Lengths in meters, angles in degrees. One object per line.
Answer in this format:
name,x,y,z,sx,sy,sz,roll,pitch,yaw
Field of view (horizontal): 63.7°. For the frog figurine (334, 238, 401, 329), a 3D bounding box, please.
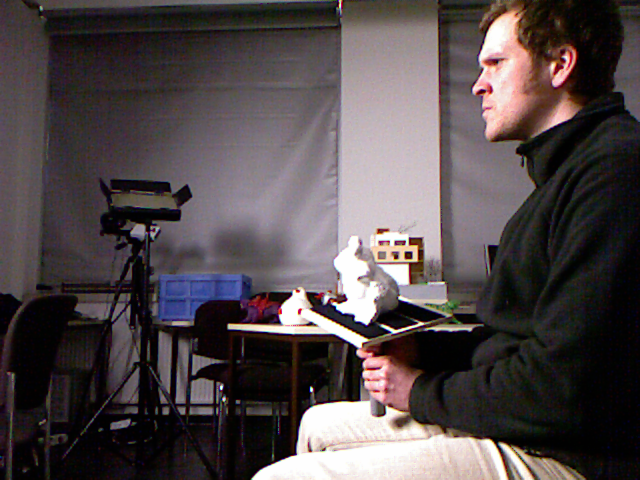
frog figurine,0.084,0.066,0.933,0.123,0.158,0.139,-6,15,-13
